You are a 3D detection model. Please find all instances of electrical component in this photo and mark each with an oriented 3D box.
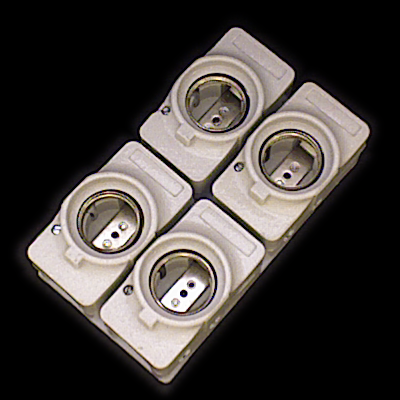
[{"bbox_3d":[0.000,0.000,0.625,0.105,0.187,0.060,39,-13,11],"label":"electrical component"}]
